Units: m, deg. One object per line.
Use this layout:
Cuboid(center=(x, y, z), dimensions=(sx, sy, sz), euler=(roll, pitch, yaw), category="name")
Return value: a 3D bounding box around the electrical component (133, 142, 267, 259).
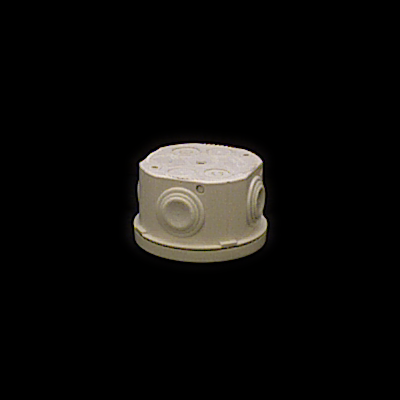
Cuboid(center=(0.000, 0.000, 0.640), dimensions=(0.080, 0.051, 0.079), euler=(1, 21, 0), category="electrical component")
